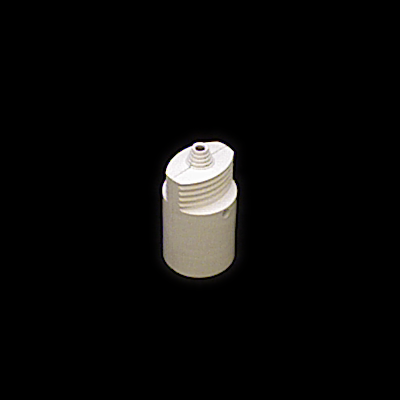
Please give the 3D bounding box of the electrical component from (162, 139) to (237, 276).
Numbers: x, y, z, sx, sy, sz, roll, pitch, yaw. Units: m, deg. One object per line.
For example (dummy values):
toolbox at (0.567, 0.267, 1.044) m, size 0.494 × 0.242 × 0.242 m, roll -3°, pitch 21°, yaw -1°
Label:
electrical component at (0.000, 0.000, 0.623) m, size 0.043 × 0.082 × 0.042 m, roll 0°, pitch 42°, yaw 0°
